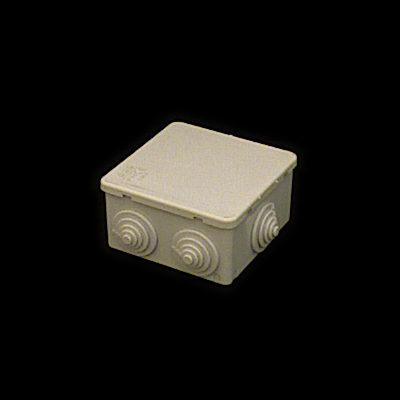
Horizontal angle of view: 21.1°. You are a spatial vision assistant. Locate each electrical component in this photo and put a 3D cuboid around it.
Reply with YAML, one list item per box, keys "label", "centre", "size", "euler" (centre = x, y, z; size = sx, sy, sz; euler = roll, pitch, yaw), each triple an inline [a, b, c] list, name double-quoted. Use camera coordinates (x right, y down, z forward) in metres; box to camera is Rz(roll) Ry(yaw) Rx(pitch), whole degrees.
- label: "electrical component"
  centre: [0.000, 0.000, 0.643]
  size: [0.098, 0.049, 0.100]
  euler: [17, 36, 24]
